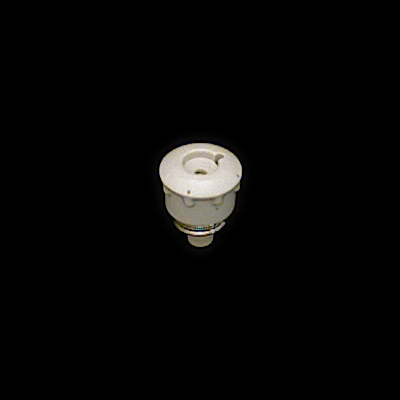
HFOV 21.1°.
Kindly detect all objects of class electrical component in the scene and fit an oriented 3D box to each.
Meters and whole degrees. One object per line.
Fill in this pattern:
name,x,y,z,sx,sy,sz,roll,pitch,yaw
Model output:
electrical component,0.000,0.000,0.639,0.048,0.062,0.047,1,43,0
